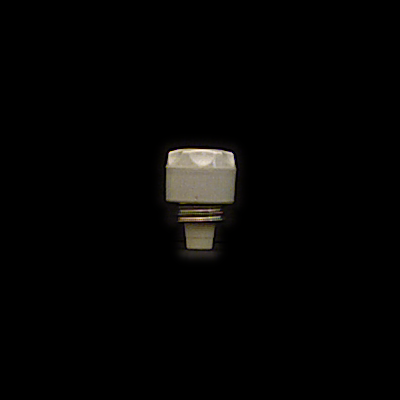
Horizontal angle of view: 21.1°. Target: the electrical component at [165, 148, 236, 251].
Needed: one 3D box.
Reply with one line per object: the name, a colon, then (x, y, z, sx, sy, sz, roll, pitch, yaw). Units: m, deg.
electrical component: (0.000, 0.000, 0.656, 0.043, 0.062, 0.043, 1, 2, 0)
